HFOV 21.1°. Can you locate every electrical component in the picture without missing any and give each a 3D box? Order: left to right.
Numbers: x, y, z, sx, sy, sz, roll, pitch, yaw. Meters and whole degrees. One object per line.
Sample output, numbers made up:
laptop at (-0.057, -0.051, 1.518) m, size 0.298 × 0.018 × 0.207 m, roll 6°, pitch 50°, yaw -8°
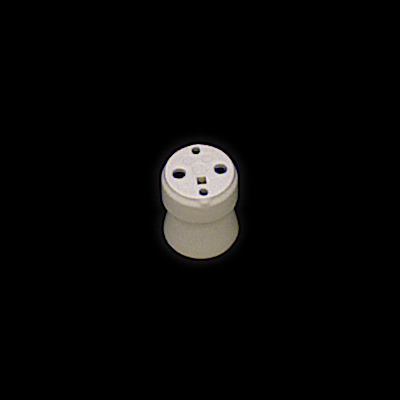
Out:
electrical component at (0.000, 0.000, 0.630) m, size 0.045 × 0.044 × 0.055 m, roll 0°, pitch -38°, yaw 0°
